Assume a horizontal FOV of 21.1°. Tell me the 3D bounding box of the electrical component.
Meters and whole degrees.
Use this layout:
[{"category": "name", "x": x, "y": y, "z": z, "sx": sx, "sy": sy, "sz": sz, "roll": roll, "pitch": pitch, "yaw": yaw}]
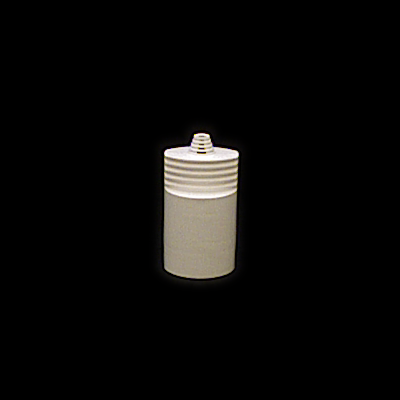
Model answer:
[{"category": "electrical component", "x": 0.000, "y": 0.000, "z": 0.635, "sx": 0.043, "sy": 0.082, "sz": 0.042, "roll": 1, "pitch": 21, "yaw": 0}]
